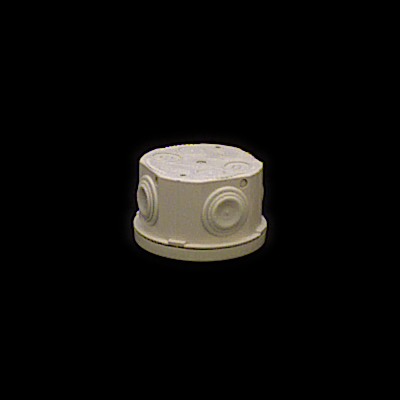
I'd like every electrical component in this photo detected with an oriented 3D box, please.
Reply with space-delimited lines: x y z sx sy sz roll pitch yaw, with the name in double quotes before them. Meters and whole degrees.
"electrical component" 0.000 0.000 0.642 0.080 0.051 0.079 1 20 0
